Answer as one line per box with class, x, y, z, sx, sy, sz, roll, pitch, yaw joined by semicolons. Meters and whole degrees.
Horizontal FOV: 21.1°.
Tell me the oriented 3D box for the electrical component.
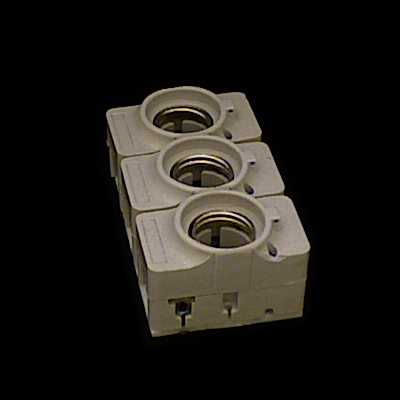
electrical component;0.000;0.000;0.637;0.089;0.063;0.147;-8;43;-10
